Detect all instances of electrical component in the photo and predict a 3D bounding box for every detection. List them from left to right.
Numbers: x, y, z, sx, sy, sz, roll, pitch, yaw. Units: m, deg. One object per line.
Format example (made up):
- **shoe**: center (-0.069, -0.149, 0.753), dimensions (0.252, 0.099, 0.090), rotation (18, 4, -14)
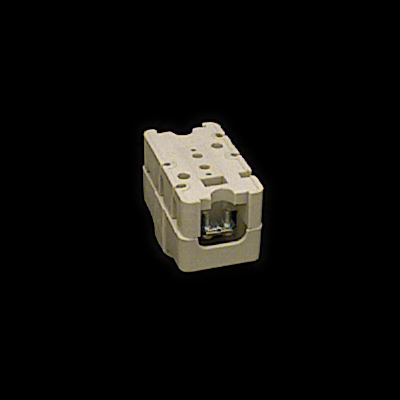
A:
- **electrical component**: center (0.000, 0.000, 0.643), dimensions (0.050, 0.056, 0.088), rotation (-9, 34, -16)
